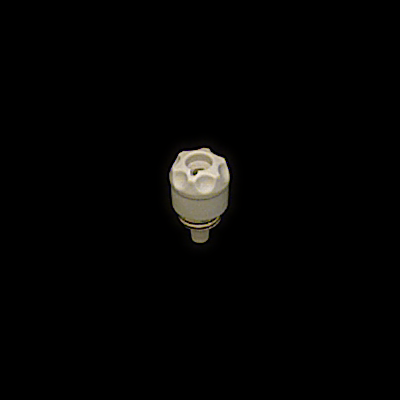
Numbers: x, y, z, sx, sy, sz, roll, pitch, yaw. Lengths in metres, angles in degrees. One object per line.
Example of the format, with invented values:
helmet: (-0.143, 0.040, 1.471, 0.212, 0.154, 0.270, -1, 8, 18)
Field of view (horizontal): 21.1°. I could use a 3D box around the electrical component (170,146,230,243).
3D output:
electrical component: (0.000, 0.000, 0.636, 0.035, 0.062, 0.035, 0, 43, 0)
